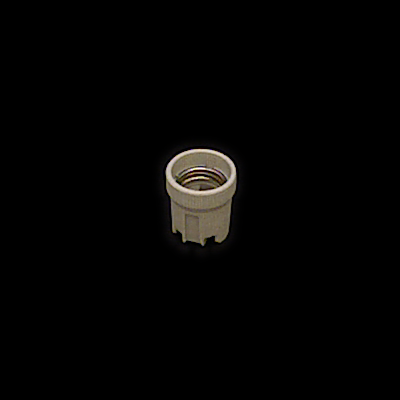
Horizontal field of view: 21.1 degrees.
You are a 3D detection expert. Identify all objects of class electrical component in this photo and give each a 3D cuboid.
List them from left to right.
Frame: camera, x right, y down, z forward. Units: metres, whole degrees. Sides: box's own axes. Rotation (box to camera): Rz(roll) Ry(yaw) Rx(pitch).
[{"bbox_3d":[0.000,0.000,0.631,0.040,0.047,0.039,1,42,0],"label":"electrical component"}]
